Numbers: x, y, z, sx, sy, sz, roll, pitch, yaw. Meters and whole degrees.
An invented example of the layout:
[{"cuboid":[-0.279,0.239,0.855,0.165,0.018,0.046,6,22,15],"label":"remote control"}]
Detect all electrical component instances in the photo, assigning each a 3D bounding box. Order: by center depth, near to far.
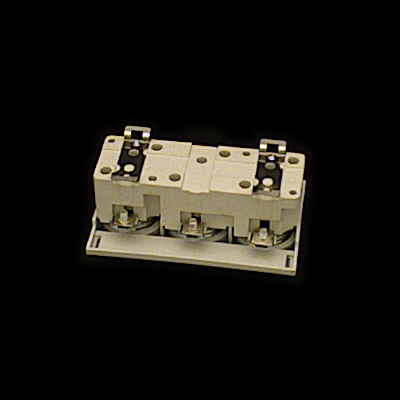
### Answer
[{"cuboid":[0.000,0.000,0.635,0.121,0.063,0.078,5,43,5],"label":"electrical component"}]
